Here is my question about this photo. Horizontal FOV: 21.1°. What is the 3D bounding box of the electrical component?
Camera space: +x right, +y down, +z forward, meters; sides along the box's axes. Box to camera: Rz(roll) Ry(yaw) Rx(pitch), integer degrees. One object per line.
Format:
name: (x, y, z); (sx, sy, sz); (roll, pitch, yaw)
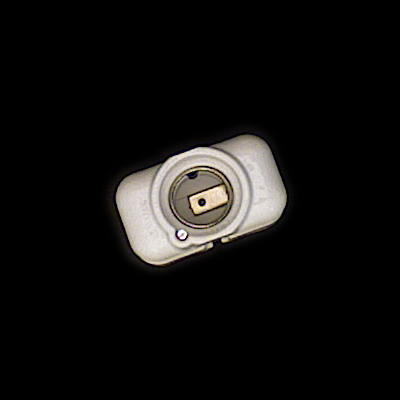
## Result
electrical component: (0.000, 0.000, 0.635); (0.095, 0.054, 0.059); (-20, -6, -1)
